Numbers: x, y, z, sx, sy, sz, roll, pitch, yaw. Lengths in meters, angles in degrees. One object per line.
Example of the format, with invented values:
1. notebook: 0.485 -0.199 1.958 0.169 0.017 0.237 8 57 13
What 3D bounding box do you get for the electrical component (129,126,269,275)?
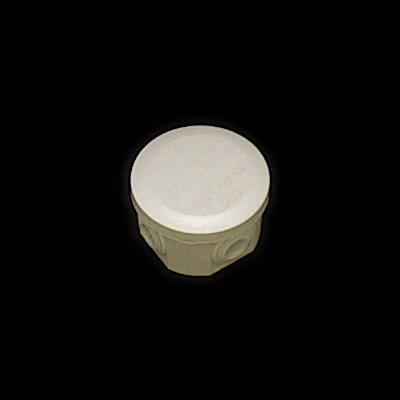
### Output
1. electrical component: 0.000 0.000 0.630 0.080 0.080 0.051 0 -38 0
